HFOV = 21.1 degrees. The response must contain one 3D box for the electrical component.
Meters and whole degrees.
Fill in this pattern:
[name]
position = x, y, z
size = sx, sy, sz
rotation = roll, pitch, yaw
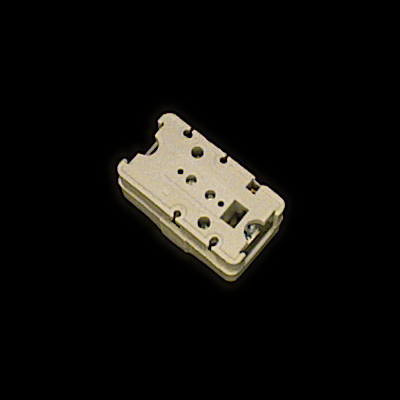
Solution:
[electrical component]
position = 0.000, 0.000, 0.636
size = 0.089, 0.050, 0.055
rotation = 39, -13, 10
